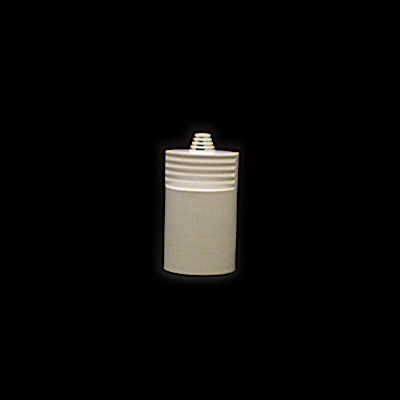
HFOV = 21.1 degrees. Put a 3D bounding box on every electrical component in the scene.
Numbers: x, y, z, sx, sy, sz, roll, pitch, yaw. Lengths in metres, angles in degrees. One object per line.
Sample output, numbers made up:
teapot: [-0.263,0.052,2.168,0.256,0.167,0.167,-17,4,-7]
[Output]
electrical component: [0.000,0.000,0.642,0.043,0.081,0.043,1,11,0]
